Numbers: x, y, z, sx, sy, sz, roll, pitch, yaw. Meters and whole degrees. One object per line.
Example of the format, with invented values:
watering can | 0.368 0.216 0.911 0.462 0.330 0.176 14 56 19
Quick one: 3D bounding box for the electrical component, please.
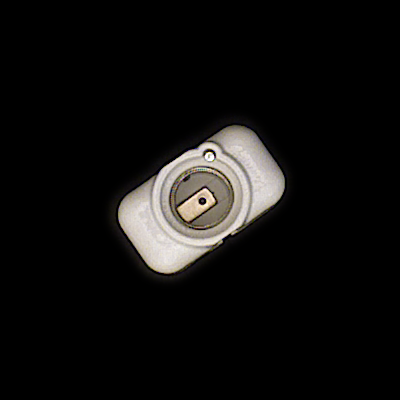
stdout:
electrical component | 0.000 0.000 0.635 0.095 0.054 0.059 -35 -4 -3
